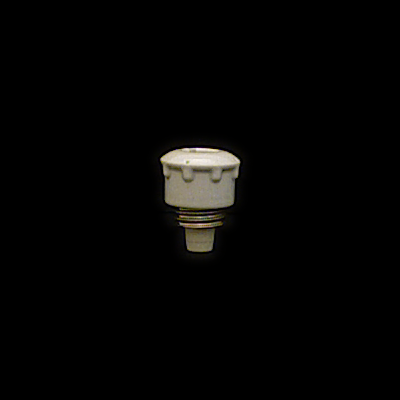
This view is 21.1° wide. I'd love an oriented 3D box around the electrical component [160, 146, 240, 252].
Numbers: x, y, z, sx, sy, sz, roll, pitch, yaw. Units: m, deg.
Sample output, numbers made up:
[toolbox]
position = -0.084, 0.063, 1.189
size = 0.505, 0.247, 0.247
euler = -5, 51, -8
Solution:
[electrical component]
position = 0.000, 0.000, 0.650
size = 0.048, 0.062, 0.048
euler = 1, 11, 0
